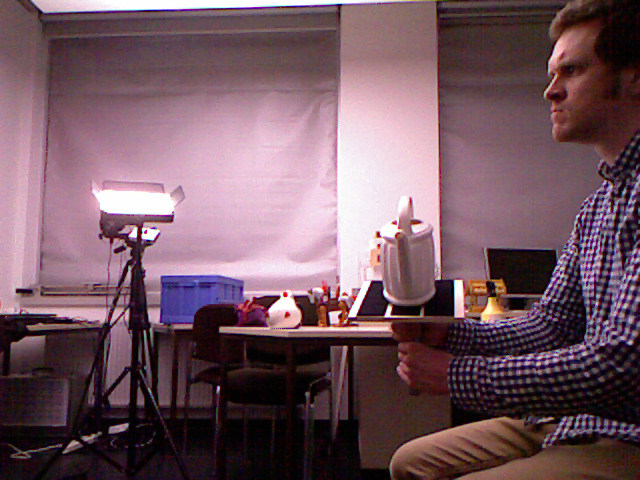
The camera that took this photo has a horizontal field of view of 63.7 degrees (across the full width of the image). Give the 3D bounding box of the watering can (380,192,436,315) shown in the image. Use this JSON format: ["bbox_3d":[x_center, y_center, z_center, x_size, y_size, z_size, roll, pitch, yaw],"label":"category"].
[{"bbox_3d":[0.158,0.035,0.946,0.104,0.222,0.352,-2,14,13],"label":"watering can"}]
